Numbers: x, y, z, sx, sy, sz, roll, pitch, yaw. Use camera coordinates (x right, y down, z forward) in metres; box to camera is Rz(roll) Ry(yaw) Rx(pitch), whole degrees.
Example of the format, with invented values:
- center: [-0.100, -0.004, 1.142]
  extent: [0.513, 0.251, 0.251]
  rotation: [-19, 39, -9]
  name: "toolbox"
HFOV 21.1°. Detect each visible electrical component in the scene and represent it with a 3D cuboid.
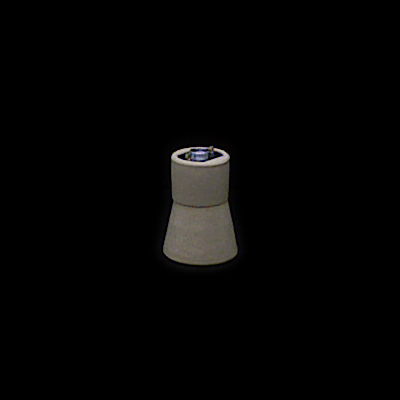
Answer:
- center: [0.000, 0.000, 0.639]
  extent: [0.044, 0.066, 0.044]
  rotation: [0, 21, 0]
  name: "electrical component"
